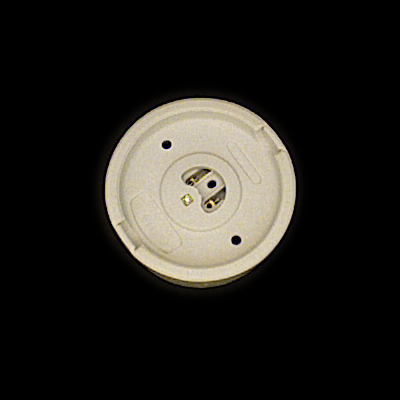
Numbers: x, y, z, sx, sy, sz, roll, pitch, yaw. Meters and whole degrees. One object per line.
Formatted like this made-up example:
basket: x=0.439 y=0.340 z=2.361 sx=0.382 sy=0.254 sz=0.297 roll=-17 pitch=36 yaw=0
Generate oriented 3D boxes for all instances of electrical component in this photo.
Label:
electrical component: x=0.000 y=0.000 z=0.633 sx=0.108 sy=0.108 sz=0.060 roll=0 pitch=-16 yaw=0
